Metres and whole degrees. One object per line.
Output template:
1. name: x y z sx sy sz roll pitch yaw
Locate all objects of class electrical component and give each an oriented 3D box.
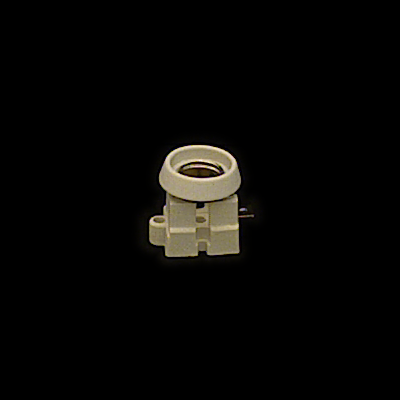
1. electrical component: 0.000 0.000 0.644 0.066 0.056 0.047 -3 34 -6
